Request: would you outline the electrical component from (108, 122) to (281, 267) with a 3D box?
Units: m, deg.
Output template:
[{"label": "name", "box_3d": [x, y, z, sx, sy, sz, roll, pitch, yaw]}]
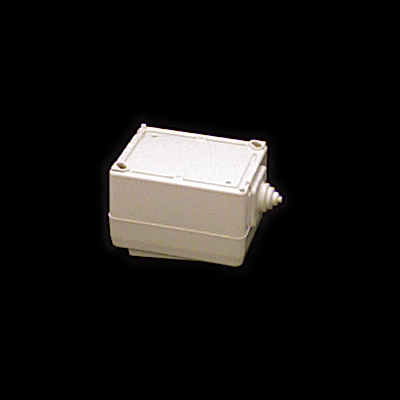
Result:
[{"label": "electrical component", "box_3d": [0.000, 0.000, 0.632, 0.096, 0.061, 0.061, 9, 32, 12]}]
